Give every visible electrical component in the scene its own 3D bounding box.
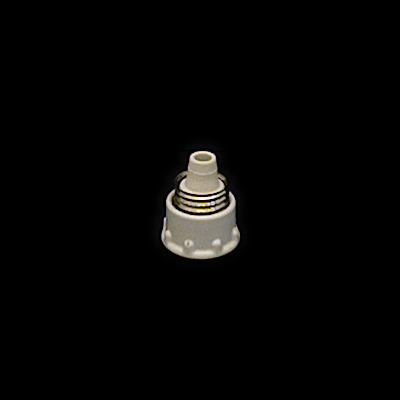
[{"bbox_3d":[0.000,0.000,0.643,0.048,0.063,0.047,2,32,0],"label":"electrical component"}]
